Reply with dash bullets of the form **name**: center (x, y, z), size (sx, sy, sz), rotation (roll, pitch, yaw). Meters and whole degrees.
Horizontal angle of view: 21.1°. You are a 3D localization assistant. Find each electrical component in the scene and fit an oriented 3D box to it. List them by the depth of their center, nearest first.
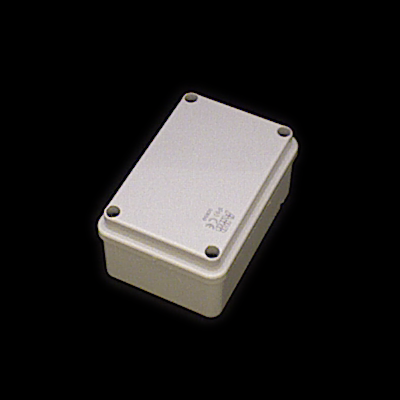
- **electrical component**: center (0.000, 0.000, 0.628), size (0.078, 0.113, 0.057), rotation (22, -35, 15)
